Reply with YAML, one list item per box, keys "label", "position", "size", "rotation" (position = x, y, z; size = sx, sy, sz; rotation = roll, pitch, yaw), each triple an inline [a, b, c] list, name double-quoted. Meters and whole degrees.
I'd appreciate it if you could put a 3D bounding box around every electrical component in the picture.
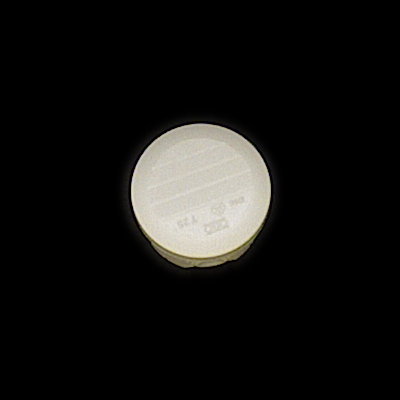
- label: "electrical component"
  position: [0.000, 0.000, 0.629]
  size: [0.080, 0.080, 0.050]
  rotation: [0, -17, 0]
